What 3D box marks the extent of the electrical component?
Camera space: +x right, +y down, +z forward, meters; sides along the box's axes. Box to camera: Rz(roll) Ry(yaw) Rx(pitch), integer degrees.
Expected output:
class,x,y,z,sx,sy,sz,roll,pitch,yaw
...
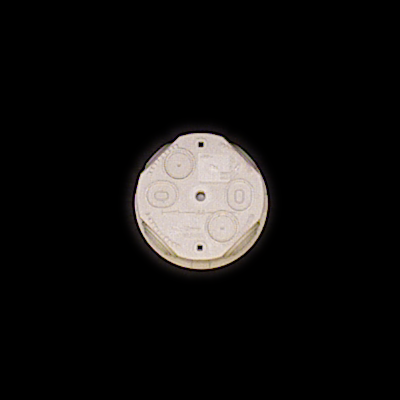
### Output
class,x,y,z,sx,sy,sz,roll,pitch,yaw
electrical component,0.000,0.000,0.633,0.080,0.080,0.050,0,-7,0
